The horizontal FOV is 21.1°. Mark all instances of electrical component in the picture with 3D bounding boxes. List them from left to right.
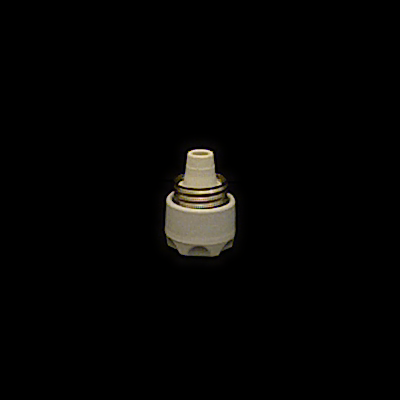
[{"bbox_3d":[0.000,0.000,0.647,0.043,0.063,0.043,1,21,0],"label":"electrical component"}]
